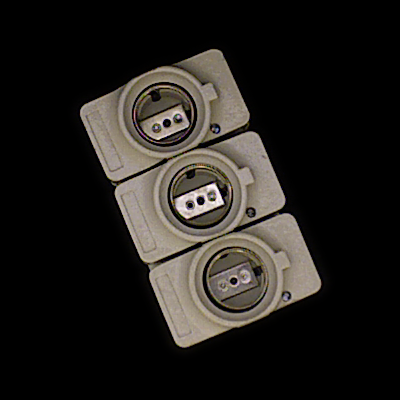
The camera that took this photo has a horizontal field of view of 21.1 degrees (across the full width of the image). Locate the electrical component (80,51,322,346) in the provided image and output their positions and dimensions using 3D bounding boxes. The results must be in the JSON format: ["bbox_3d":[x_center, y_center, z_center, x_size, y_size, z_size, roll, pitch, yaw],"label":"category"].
[{"bbox_3d":[0.000,0.000,0.632,0.089,0.150,0.061,-23,-5,-3],"label":"electrical component"}]
